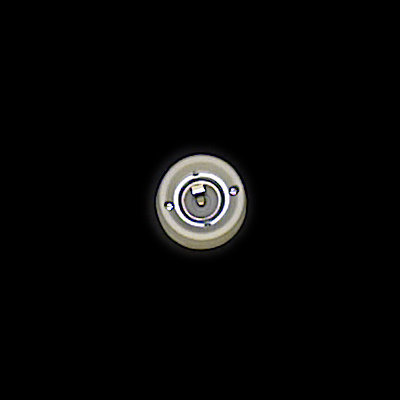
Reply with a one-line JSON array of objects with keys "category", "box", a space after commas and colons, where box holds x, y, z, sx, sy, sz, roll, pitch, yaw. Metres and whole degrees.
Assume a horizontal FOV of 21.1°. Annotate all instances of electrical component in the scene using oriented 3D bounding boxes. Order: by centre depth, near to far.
[{"category": "electrical component", "box": [0.000, 0.000, 0.634, 0.055, 0.055, 0.047, 0, -7, -1]}]
